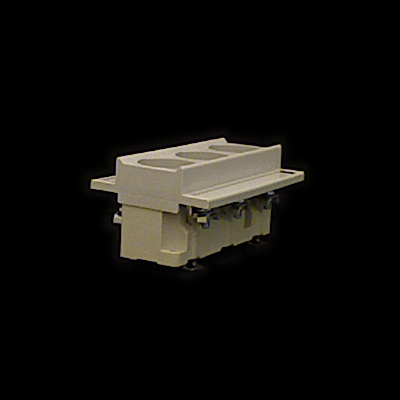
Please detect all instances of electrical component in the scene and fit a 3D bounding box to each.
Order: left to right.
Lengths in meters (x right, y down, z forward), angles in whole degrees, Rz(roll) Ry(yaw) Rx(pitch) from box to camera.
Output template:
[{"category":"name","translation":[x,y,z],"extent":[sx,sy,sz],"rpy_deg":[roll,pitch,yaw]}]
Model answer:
[{"category":"electrical component","translation":[0.000,0.000,0.657],"extent":[0.078,0.063,0.121],"rpy_deg":[9,13,30]}]
